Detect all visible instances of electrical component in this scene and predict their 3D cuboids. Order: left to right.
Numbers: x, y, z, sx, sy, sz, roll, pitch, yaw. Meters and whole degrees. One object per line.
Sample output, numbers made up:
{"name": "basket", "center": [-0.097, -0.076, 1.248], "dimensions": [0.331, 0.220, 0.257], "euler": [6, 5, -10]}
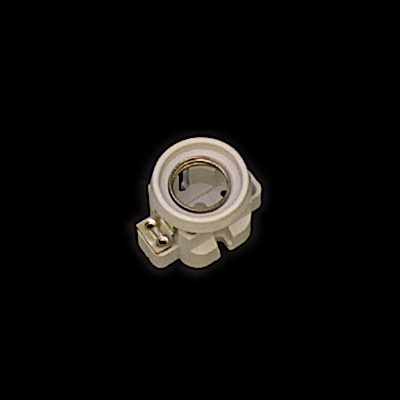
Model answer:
{"name": "electrical component", "center": [0.000, 0.000, 0.627], "dimensions": [0.079, 0.058, 0.056], "euler": [-32, -23, -15]}
